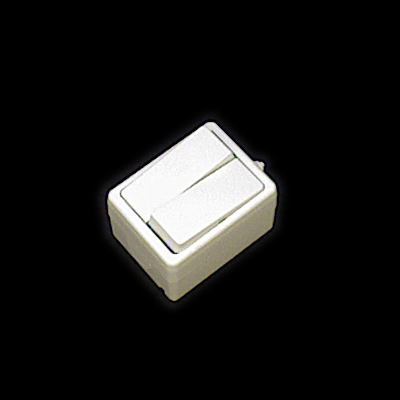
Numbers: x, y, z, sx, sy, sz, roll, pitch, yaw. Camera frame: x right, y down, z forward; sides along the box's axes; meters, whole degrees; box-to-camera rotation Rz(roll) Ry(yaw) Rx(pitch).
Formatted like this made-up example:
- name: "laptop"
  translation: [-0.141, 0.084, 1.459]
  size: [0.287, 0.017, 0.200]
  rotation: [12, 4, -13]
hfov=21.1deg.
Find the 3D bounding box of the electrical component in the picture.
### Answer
- name: "electrical component"
  translation: [0.000, 0.000, 0.627]
  size: [0.096, 0.062, 0.061]
  rotation: [-36, -22, -17]
